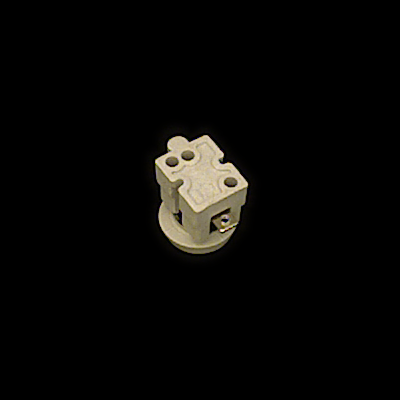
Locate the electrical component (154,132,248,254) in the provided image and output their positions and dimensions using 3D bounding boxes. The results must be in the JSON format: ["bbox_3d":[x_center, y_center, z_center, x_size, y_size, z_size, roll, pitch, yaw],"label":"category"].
[{"bbox_3d":[0.000,0.000,0.638,0.049,0.066,0.055,-27,-31,-20],"label":"electrical component"}]
